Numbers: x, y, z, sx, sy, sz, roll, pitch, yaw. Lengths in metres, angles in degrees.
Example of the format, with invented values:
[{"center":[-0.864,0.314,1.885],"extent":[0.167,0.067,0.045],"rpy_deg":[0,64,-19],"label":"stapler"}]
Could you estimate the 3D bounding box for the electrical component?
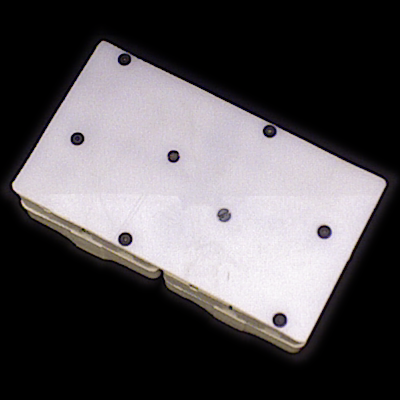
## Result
[{"center":[0.000,0.000,0.625],"extent":[0.186,0.106,0.060],"rpy_deg":[27,-15,7],"label":"electrical component"}]
